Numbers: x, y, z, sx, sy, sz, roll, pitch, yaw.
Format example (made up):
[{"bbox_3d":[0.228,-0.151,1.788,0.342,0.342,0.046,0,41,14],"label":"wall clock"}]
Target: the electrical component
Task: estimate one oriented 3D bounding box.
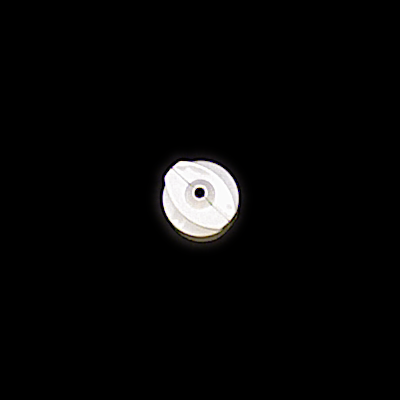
[{"bbox_3d":[0.000,0.000,0.616,0.043,0.043,0.080,0,-6,1],"label":"electrical component"}]
